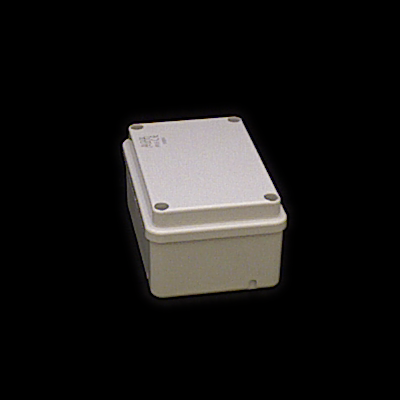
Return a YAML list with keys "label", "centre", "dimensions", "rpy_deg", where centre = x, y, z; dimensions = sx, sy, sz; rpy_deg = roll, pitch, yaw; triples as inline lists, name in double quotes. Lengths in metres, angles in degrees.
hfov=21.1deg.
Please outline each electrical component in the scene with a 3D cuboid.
- label: "electrical component"
  centre: [0.000, 0.000, 0.634]
  dimensions: [0.078, 0.058, 0.111]
  rpy_deg: [-5, 32, -10]
